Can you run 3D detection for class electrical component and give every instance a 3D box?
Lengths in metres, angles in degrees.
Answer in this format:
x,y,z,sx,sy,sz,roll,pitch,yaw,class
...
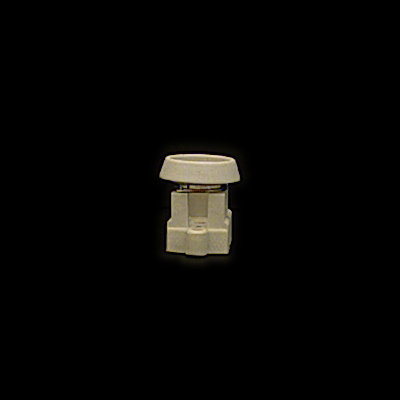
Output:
x,y,z,sx,sy,sz,roll,pitch,yaw,class
0.000,0.000,0.652,0.048,0.056,0.066,4,12,2,electrical component
